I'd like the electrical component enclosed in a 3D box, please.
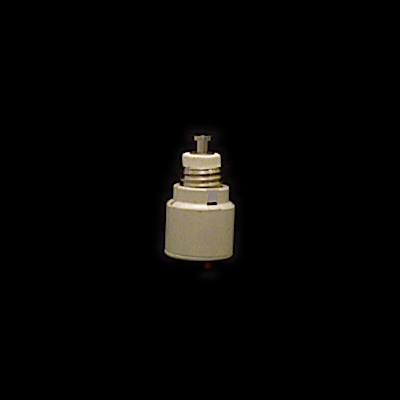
[{"bbox_3d":[0.000,0.000,0.642,0.040,0.079,0.040,2,10,0],"label":"electrical component"}]
